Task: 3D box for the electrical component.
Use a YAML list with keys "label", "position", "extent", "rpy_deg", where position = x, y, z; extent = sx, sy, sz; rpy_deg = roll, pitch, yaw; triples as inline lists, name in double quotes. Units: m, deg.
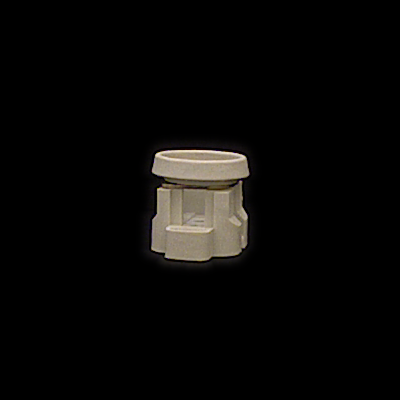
- label: "electrical component"
  position: [0.000, 0.000, 0.646]
  extent: [0.058, 0.057, 0.078]
  rpy_deg: [4, 11, 12]
